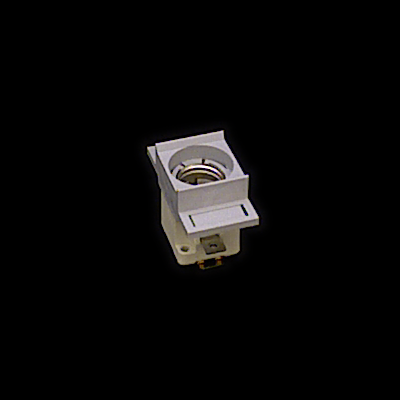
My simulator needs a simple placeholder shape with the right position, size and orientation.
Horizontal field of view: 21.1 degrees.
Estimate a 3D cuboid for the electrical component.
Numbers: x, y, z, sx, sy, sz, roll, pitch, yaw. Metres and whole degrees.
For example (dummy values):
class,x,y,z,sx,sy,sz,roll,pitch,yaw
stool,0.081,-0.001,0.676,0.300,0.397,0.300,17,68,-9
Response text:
class,x,y,z,sx,sy,sz,roll,pitch,yaw
electrical component,0.000,0.000,0.627,0.042,0.064,0.080,-11,43,-14
